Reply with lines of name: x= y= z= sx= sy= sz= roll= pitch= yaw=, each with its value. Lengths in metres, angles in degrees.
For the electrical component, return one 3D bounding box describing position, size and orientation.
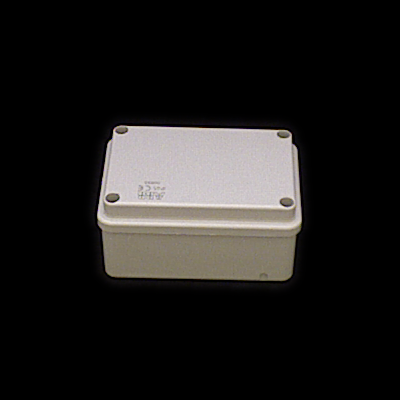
electrical component: x=0.000 y=0.000 z=0.629 sx=0.113 sy=0.057 sz=0.077 roll=2 pitch=42 yaw=0
